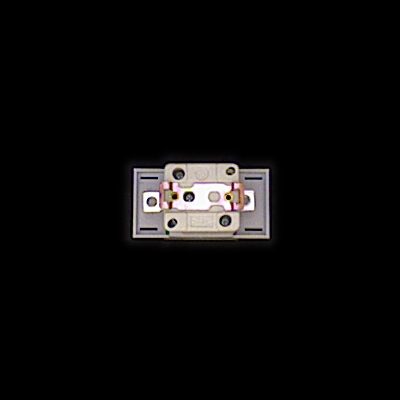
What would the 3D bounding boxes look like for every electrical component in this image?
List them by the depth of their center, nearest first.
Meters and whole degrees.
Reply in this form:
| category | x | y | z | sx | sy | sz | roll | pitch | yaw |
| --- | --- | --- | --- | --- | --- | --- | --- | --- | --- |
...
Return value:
| category | x | y | z | sx | sy | sz | roll | pitch | yaw |
| --- | --- | --- | --- | --- | --- | --- | --- | --- | --- |
| electrical component | 0.000 | 0.000 | 0.626 | 0.081 | 0.042 | 0.063 | 0 | -6 | 1 |
